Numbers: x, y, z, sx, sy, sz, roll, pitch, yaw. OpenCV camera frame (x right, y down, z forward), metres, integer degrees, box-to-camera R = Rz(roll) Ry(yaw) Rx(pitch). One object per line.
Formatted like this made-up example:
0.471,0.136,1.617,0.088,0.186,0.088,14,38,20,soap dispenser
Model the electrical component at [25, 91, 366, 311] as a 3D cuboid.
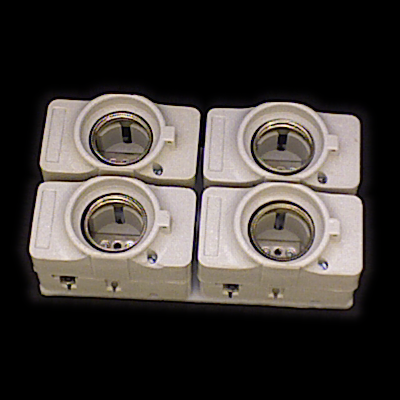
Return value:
0.000,0.000,0.626,0.186,0.105,0.060,3,-27,1,electrical component
